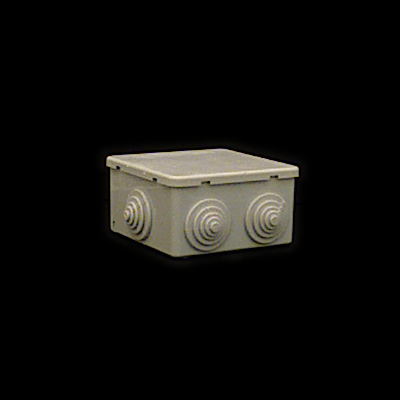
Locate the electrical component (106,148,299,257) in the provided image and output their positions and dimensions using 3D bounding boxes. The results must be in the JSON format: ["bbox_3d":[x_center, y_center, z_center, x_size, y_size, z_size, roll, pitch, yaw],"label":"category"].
[{"bbox_3d":[0.000,0.000,0.654,0.100,0.049,0.098,-5,13,-31],"label":"electrical component"}]
